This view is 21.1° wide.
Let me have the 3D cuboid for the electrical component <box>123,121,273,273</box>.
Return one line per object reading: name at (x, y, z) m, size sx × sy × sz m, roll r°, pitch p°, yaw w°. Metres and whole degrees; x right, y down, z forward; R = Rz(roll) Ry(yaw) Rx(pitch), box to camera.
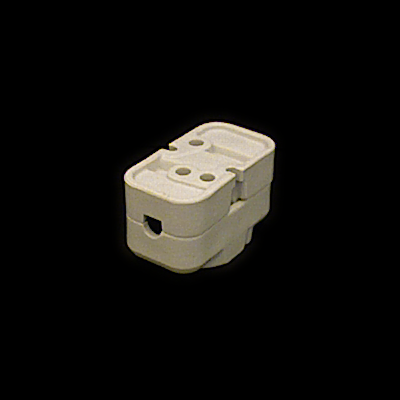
electrical component at (0.000, 0.000, 0.641) m, size 0.053 × 0.060 × 0.095 m, roll 22°, pitch 37°, yaw 29°
